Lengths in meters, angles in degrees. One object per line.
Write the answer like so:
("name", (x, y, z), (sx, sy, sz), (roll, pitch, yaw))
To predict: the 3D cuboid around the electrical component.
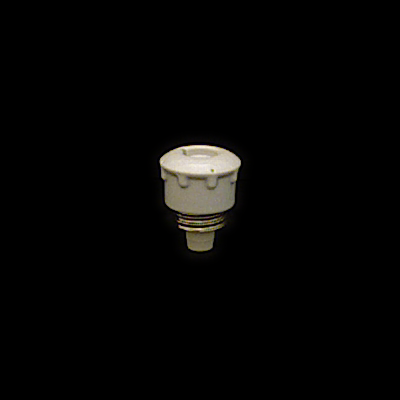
("electrical component", (0.000, 0.000, 0.643), (0.048, 0.062, 0.047), (1, 21, 0))
